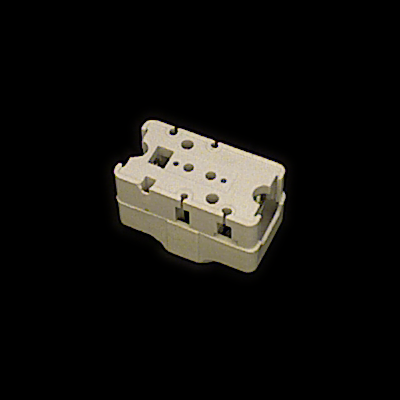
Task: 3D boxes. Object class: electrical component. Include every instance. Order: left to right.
[{"bbox_3d":[0.000,0.000,0.637,0.089,0.050,0.056,20,-34,15],"label":"electrical component"}]
